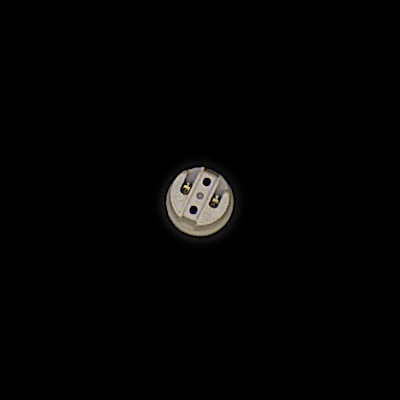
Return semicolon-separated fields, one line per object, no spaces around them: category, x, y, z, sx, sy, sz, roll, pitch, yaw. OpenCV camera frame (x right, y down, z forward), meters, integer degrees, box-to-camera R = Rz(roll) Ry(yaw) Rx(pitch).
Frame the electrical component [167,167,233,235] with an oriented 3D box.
electrical component;0.000;0.000;0.635;0.040;0.040;0.046;0;-6;0
